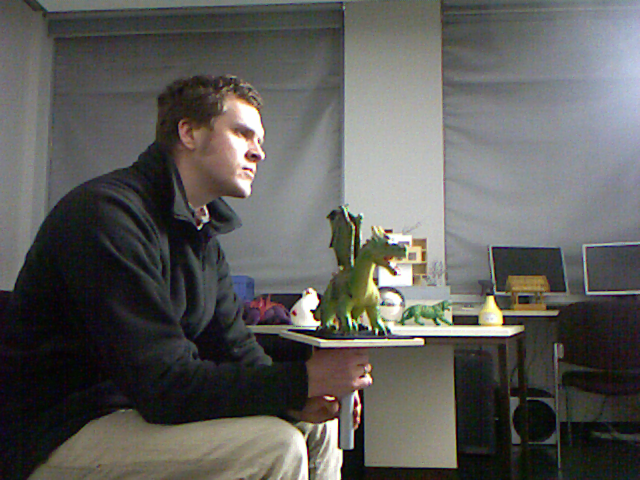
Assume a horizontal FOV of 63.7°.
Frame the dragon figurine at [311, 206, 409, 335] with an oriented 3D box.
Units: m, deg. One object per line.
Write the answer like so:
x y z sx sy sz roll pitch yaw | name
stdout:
0.047 0.055 0.992 0.122 0.244 0.409 0 -2 -23 | dragon figurine
